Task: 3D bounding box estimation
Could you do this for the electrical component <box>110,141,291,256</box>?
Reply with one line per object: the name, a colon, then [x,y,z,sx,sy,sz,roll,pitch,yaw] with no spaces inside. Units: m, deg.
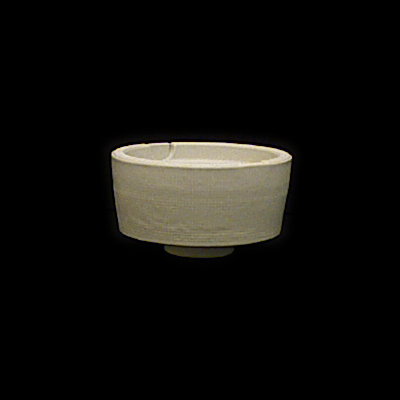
electrical component: [0.000,0.000,0.650,0.108,0.061,0.107,1,11,0]
